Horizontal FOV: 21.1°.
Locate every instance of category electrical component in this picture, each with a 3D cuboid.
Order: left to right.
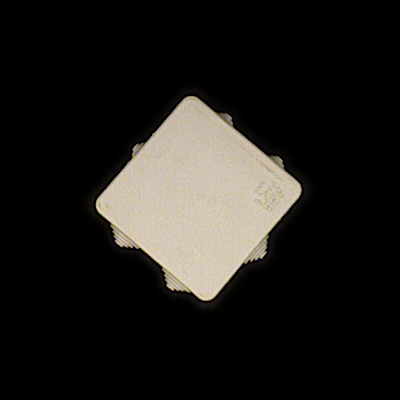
[{"bbox_3d":[0.000,0.000,0.642,0.100,0.100,0.048,40,-5,4],"label":"electrical component"}]
